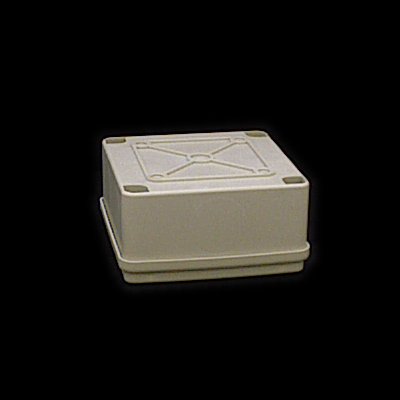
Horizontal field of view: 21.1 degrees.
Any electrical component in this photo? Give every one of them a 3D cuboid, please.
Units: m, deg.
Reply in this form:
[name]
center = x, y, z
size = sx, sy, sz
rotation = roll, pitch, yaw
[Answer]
[electrical component]
center = 0.000, 0.000, 0.636
size = 0.109, 0.057, 0.107
rotation = -4, 21, -11
